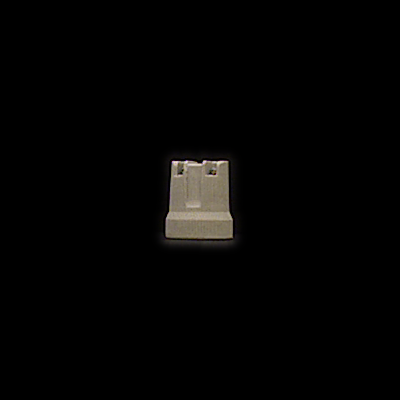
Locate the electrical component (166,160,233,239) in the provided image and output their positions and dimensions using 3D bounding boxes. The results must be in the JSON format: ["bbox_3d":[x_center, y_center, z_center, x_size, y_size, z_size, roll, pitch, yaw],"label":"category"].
[{"bbox_3d":[0.000,0.000,0.649,0.040,0.046,0.040,1,1,0],"label":"electrical component"}]
